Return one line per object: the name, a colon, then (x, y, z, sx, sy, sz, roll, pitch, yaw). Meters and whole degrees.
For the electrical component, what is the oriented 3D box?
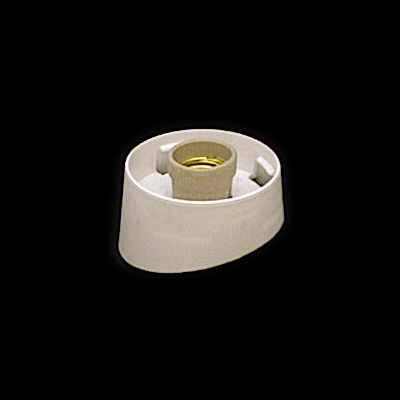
electrical component: (0.000, 0.000, 0.634, 0.099, 0.065, 0.097, 0, 31, 0)
